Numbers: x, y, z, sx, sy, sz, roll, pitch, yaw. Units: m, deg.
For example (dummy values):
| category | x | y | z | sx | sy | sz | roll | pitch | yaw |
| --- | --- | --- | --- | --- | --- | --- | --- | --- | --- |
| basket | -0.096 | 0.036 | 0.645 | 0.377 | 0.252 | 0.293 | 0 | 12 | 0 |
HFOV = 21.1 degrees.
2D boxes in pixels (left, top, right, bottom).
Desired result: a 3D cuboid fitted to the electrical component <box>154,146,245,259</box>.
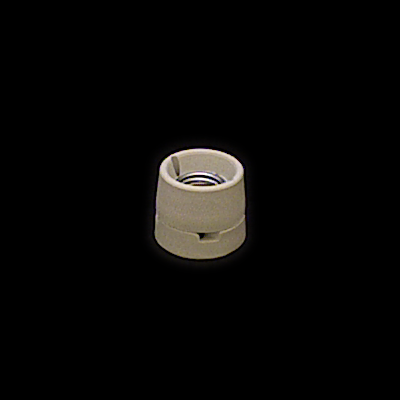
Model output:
| category | x | y | z | sx | sy | sz | roll | pitch | yaw |
| --- | --- | --- | --- | --- | --- | --- | --- | --- | --- |
| electrical component | 0.000 | 0.000 | 0.637 | 0.055 | 0.047 | 0.055 | 1 | 32 | -1 |
